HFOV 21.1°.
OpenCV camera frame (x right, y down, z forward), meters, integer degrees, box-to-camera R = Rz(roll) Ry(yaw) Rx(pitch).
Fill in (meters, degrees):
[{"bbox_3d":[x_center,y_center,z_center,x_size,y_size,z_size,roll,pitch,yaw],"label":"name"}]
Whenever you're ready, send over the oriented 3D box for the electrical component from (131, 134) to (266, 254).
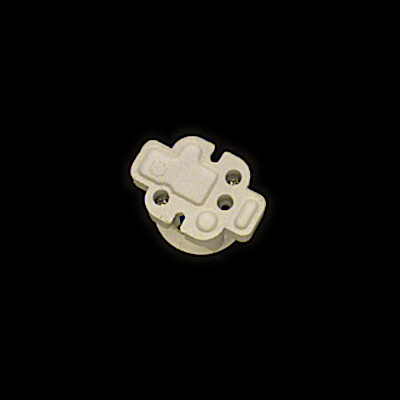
[{"bbox_3d":[0.000,0.000,0.635,0.078,0.058,0.056,27,-13,9],"label":"electrical component"}]
